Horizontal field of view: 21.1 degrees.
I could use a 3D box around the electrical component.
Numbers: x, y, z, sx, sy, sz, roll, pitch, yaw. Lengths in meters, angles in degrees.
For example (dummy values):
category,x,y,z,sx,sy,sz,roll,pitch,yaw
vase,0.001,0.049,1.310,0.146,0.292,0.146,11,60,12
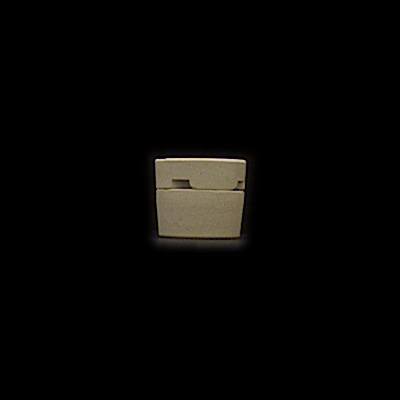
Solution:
category,x,y,z,sx,sy,sz,roll,pitch,yaw
electrical component,0.000,0.000,0.649,0.055,0.047,0.055,1,0,0
